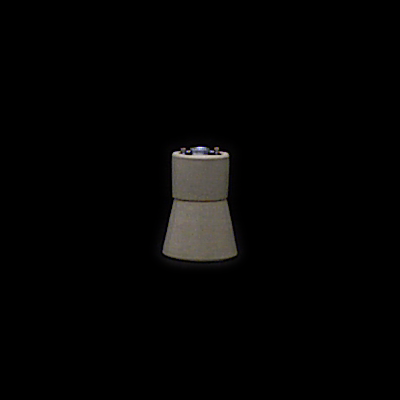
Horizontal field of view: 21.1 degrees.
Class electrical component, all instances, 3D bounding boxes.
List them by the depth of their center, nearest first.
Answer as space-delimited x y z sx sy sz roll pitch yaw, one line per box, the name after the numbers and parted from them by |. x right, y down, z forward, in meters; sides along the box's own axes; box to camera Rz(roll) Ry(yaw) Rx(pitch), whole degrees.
0.000 0.000 0.645 0.044 0.066 0.044 1 10 0 | electrical component
